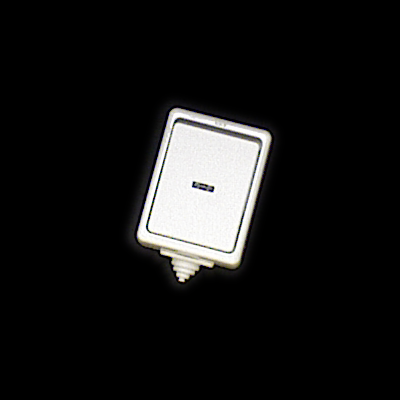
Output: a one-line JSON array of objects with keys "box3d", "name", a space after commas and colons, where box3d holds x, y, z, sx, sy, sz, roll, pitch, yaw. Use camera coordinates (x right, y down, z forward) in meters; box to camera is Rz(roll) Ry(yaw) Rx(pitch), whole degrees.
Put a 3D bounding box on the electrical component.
[{"box3d": [0.000, 0.000, 0.626, 0.062, 0.096, 0.061, 14, -7, 2], "name": "electrical component"}]
